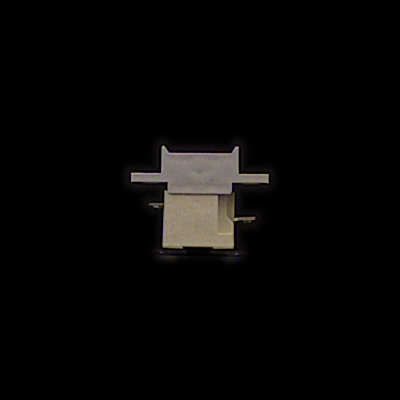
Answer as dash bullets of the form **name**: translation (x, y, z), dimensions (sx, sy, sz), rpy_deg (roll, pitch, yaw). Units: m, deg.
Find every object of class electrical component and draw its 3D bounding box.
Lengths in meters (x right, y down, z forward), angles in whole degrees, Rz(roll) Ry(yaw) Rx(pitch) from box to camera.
- **electrical component**: translation (0.000, 0.000, 0.650), dimensions (0.081, 0.064, 0.042), rpy_deg (1, 0, 2)
